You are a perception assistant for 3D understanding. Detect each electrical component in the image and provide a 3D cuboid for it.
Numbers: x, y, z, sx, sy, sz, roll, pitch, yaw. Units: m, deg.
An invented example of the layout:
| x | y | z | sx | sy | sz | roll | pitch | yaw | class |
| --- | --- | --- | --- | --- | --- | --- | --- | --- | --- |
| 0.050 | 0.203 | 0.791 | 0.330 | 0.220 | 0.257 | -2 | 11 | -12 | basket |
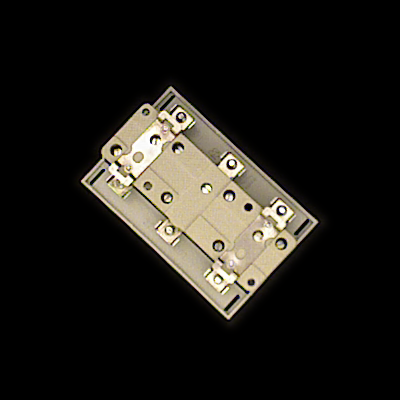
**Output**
| x | y | z | sx | sy | sz | roll | pitch | yaw | class |
| --- | --- | --- | --- | --- | --- | --- | --- | --- | --- |
| 0.000 | 0.000 | 0.634 | 0.121 | 0.079 | 0.063 | 43 | -3 | 4 | electrical component |
